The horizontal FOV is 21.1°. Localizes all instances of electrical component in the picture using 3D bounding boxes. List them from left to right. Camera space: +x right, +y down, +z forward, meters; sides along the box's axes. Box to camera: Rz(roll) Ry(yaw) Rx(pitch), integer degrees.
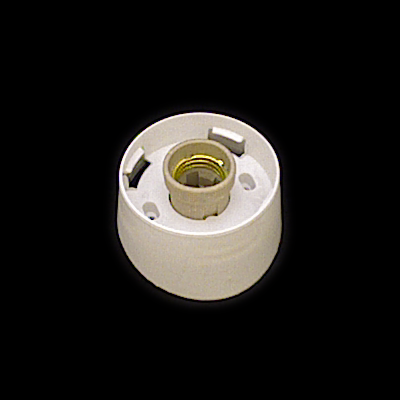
[{"bbox_3d":[0.000,0.000,0.627,0.099,0.098,0.064,0,-37,-1],"label":"electrical component"}]
